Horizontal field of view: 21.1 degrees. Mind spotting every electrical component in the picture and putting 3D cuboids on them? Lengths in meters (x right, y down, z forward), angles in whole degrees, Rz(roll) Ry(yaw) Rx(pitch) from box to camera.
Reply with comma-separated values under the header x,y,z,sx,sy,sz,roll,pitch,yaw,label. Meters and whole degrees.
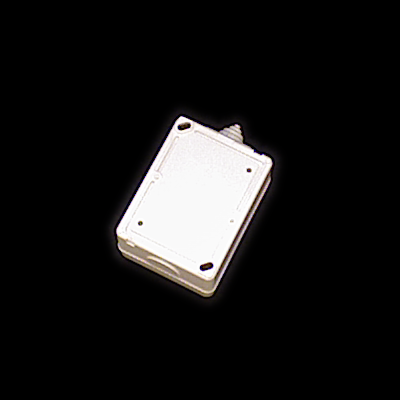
x,y,z,sx,sy,sz,roll,pitch,yaw,label
0.000,0.000,0.628,0.062,0.096,0.060,26,-16,7,electrical component
